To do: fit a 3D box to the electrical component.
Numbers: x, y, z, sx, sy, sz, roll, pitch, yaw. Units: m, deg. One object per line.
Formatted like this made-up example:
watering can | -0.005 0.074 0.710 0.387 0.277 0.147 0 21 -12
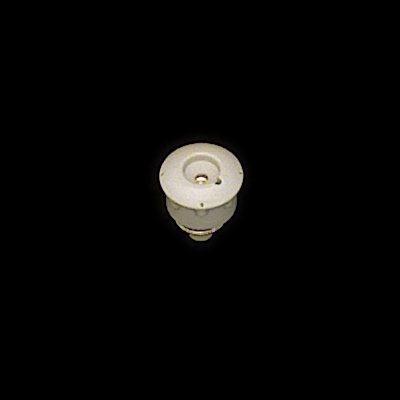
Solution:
electrical component | 0.000 0.000 0.636 0.048 0.048 0.062 0 -37 0
